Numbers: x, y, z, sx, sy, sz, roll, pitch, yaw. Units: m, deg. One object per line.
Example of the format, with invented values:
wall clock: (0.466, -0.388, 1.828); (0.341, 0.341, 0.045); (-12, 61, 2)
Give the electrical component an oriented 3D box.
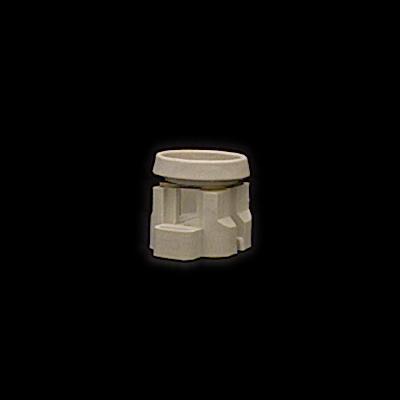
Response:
electrical component: (0.000, 0.000, 0.646); (0.057, 0.057, 0.078); (7, 12, 26)
